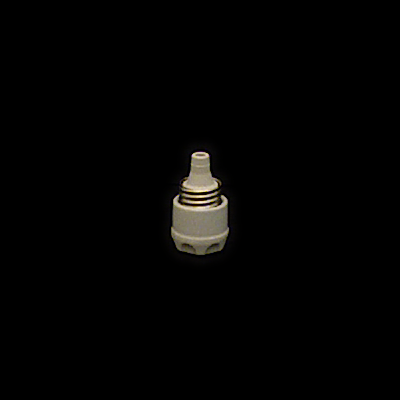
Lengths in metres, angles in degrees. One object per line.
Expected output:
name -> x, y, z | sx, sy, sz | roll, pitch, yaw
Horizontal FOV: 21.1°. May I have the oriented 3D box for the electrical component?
electrical component -> 0.000, 0.000, 0.652 | 0.035, 0.062, 0.034 | 0, 23, 0
